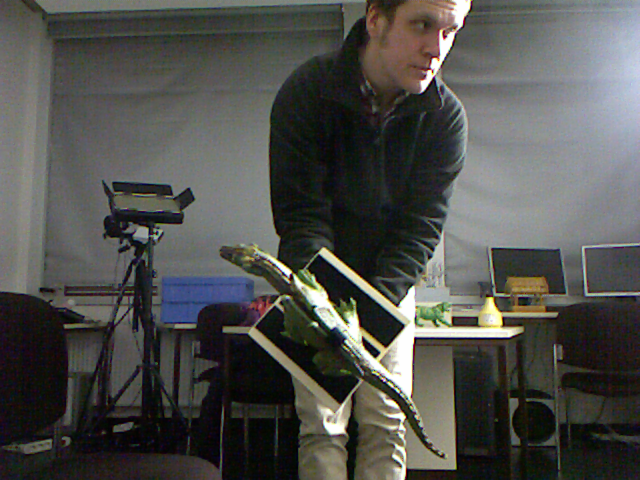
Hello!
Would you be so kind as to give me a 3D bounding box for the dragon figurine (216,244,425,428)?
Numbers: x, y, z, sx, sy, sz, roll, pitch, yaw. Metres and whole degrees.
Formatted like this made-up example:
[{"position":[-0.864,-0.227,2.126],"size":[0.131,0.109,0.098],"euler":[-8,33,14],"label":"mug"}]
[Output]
[{"position":[0.013,0.142,0.759],"size":[0.414,0.123,0.241],"euler":[40,-4,10],"label":"dragon figurine"}]
